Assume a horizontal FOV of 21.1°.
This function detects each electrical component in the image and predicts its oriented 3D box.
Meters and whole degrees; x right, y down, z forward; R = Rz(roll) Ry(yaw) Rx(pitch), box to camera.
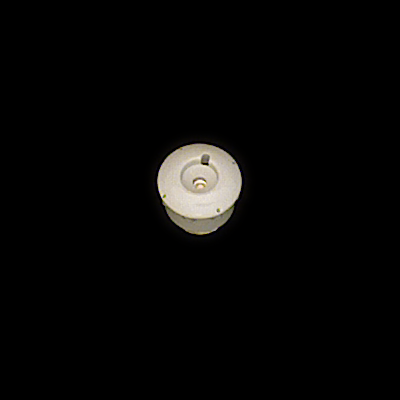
[{"bbox_3d":[0.000,0.000,0.634,0.048,0.048,0.062,0,-27,0],"label":"electrical component"}]
